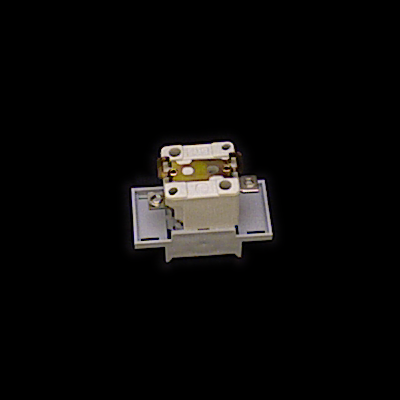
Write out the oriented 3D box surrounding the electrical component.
[{"bbox_3d":[0.000,0.000,0.627,0.081,0.042,0.064,-4,-37,-4],"label":"electrical component"}]
